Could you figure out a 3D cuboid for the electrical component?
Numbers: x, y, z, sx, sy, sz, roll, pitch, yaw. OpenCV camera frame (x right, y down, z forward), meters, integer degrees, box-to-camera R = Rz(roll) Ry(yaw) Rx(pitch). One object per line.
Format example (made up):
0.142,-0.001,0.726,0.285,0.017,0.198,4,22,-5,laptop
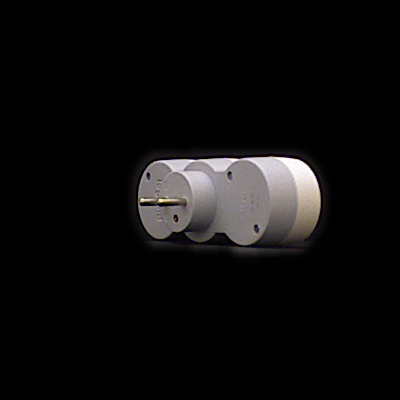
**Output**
0.000,0.000,0.648,0.074,0.052,0.138,-2,2,-36,electrical component
